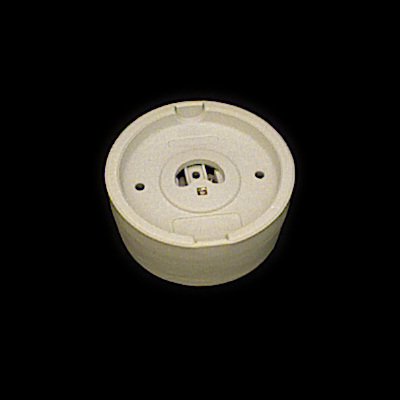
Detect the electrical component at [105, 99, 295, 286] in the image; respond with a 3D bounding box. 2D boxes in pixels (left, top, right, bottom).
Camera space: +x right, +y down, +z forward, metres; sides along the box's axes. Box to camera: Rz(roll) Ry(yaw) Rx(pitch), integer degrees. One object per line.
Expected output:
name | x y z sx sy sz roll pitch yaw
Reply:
electrical component | 0.000 0.000 0.633 0.108 0.107 0.060 0 -37 -1
